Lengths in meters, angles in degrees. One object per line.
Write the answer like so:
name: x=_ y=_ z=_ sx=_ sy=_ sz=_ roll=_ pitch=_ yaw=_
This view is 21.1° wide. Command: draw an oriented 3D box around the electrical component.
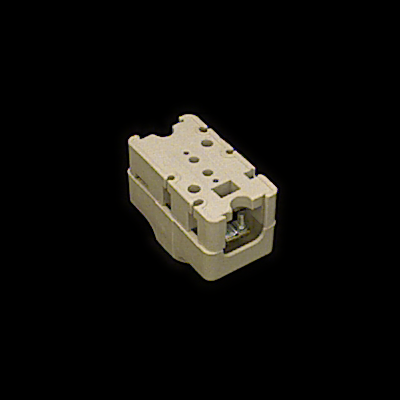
electrical component: x=0.000 y=0.000 z=0.640 sx=0.050 sy=0.056 sz=0.088 roll=-25 pitch=49 yaw=-26
